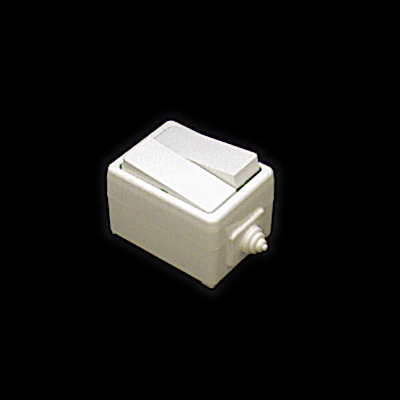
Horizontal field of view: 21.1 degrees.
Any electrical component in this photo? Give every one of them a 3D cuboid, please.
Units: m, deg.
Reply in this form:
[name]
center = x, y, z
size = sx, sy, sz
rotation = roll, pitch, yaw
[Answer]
[electrical component]
center = 0.000, 0.000, 0.630
size = 0.096, 0.061, 0.061
rotation = 27, 48, 27
